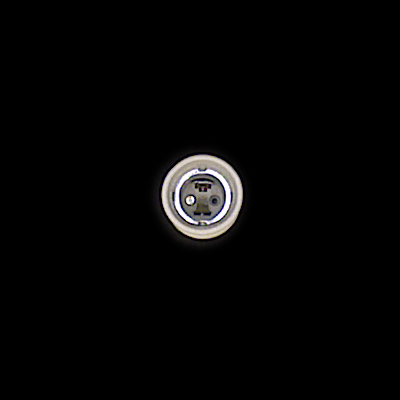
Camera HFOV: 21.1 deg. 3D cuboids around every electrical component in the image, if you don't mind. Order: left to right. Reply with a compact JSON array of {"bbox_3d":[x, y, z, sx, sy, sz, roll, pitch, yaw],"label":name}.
[{"bbox_3d":[0.000,0.000,0.629,0.045,0.045,0.055,0,-7,0],"label":"electrical component"}]
